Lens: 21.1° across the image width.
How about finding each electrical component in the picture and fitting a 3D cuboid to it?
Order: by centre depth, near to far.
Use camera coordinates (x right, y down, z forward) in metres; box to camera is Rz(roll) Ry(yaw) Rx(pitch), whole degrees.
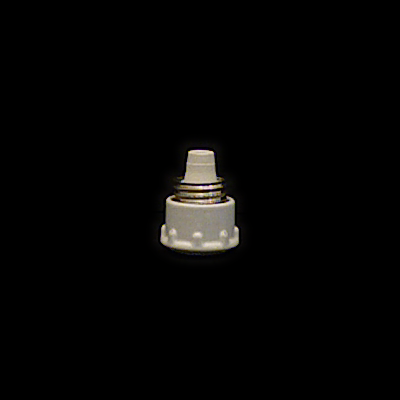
[{"bbox_3d":[0.000,0.000,0.652,0.048,0.062,0.048,1,11,0],"label":"electrical component"}]
